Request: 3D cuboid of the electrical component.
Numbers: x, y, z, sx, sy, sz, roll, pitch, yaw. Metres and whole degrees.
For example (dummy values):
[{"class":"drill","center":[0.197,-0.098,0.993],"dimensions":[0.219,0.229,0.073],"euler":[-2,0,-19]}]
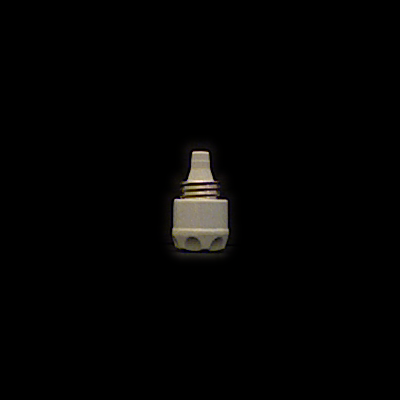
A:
[{"class":"electrical component","center":[0.000,0.000,0.662],"dimensions":[0.035,0.061,0.035],"euler":[0,2,0]}]
